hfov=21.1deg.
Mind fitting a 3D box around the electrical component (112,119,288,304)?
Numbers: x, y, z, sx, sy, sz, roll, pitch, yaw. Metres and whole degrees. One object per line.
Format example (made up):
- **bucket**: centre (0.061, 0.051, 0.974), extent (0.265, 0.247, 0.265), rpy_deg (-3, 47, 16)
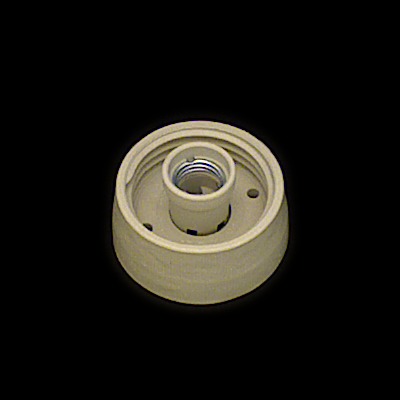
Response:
- **electrical component**: centre (0.000, 0.000, 0.635), extent (0.108, 0.107, 0.060), rpy_deg (0, -37, 0)
